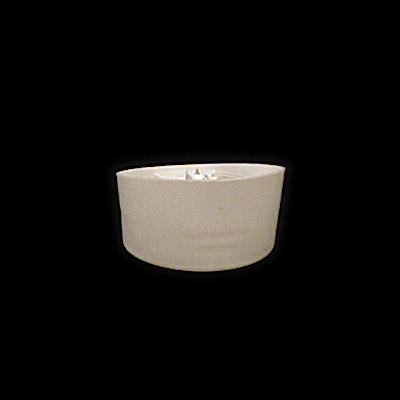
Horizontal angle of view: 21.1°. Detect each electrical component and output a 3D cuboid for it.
[{"bbox_3d":[0.000,0.000,0.637,0.099,0.065,0.097,2,21,-1],"label":"electrical component"}]
